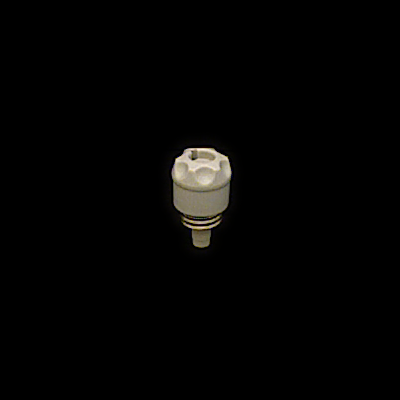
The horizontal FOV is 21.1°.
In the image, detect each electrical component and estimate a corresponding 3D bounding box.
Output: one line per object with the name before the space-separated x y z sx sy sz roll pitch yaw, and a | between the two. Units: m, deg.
electrical component | 0.000 0.000 0.643 0.035 0.062 0.034 1 32 0
